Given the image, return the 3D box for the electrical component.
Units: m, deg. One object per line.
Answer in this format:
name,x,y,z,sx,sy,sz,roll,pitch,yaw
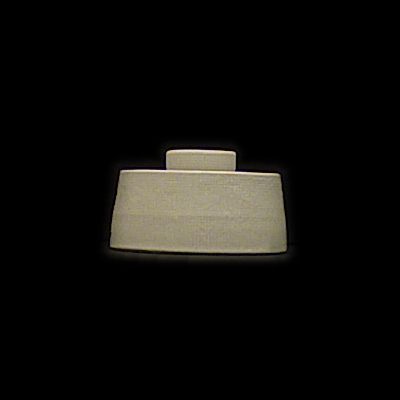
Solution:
electrical component,0.000,0.000,0.656,0.108,0.060,0.108,1,0,0
